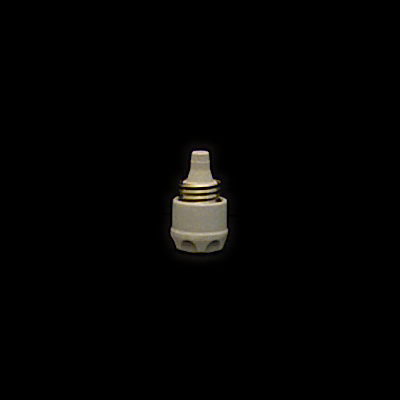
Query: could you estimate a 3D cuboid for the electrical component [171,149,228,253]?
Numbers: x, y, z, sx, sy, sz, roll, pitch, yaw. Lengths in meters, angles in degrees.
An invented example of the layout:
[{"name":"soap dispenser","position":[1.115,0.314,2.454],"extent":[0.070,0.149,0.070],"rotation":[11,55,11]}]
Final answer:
[{"name":"electrical component","position":[0.000,0.000,0.658],"extent":[0.035,0.062,0.035],"rotation":[0,14,0]}]
